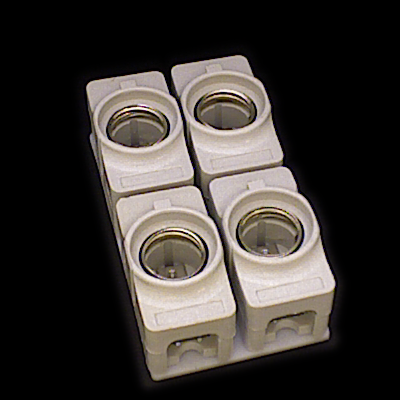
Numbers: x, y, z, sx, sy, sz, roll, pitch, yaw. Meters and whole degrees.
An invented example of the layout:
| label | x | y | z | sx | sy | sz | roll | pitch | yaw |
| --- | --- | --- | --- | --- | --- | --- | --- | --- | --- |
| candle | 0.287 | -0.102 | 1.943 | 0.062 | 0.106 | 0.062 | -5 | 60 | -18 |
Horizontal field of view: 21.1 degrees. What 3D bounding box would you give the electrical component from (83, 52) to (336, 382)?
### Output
| label | x | y | z | sx | sy | sz | roll | pitch | yaw |
| --- | --- | --- | --- | --- | --- | --- | --- | --- | --- |
| electrical component | 0.000 | 0.000 | 0.627 | 0.106 | 0.185 | 0.060 | -11 | -37 | -9 |
